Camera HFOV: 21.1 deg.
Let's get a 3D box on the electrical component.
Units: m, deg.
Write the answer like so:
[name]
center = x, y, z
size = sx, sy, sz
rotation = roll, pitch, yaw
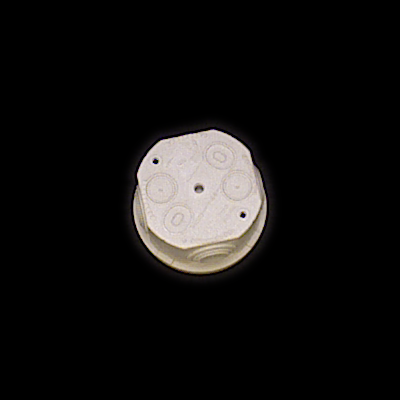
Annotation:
[electrical component]
center = 0.000, 0.000, 0.632
size = 0.080, 0.080, 0.050
rotation = 0, -17, 0
